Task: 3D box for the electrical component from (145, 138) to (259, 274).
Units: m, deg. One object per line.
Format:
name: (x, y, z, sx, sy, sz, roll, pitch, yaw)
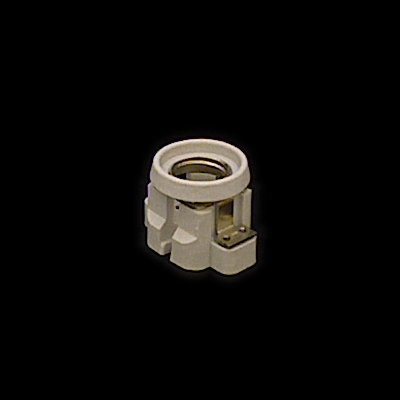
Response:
electrical component: (0.000, 0.000, 0.635, 0.057, 0.057, 0.078, -25, 40, -36)
